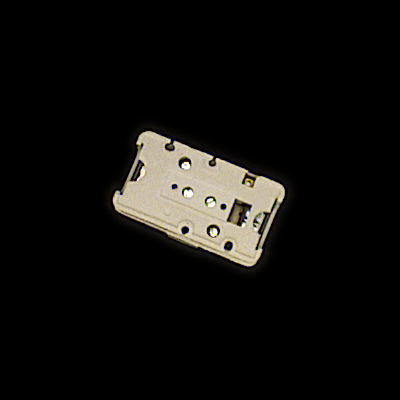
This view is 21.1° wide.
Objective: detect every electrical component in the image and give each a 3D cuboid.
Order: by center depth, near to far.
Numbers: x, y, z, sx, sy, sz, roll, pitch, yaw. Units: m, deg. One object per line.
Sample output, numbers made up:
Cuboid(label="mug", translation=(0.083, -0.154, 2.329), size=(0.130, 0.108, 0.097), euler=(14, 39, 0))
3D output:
Cuboid(label="electrical component", translation=(0.000, 0.000, 0.637), size=(0.089, 0.050, 0.055), euler=(22, -6, 2))
